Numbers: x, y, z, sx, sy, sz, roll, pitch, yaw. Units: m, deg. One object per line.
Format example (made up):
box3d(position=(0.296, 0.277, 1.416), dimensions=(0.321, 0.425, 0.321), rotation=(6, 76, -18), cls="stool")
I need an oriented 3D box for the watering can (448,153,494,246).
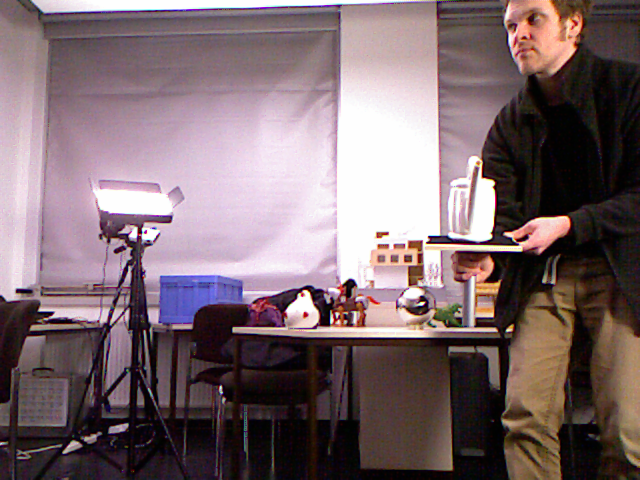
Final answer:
box3d(position=(0.350, -0.089, 1.189), dimensions=(0.104, 0.223, 0.351), rotation=(2, 8, 14), cls="watering can")
